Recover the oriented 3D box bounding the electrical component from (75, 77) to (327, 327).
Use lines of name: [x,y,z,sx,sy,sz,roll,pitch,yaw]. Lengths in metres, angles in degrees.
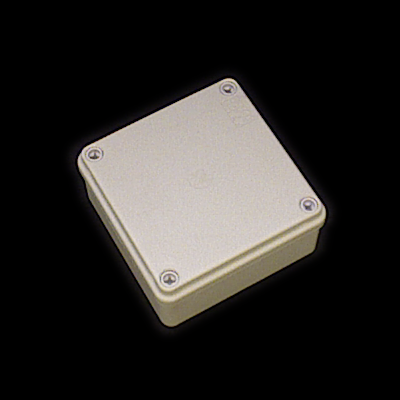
electrical component: [0.000,0.000,0.628,0.109,0.108,0.056,-27,-24,-13]
